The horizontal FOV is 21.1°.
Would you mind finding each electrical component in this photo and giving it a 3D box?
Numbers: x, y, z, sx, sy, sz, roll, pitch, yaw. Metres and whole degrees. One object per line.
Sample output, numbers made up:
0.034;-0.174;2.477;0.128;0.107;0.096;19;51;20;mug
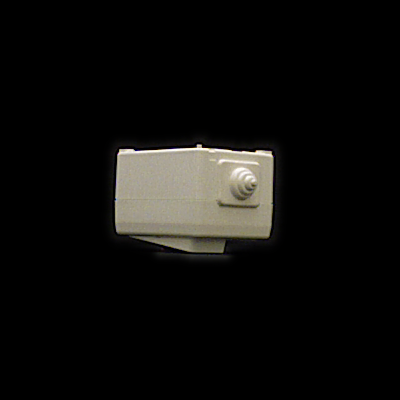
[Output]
0.000;0.000;0.645;0.061;0.061;0.096;2;-1;-40;electrical component
